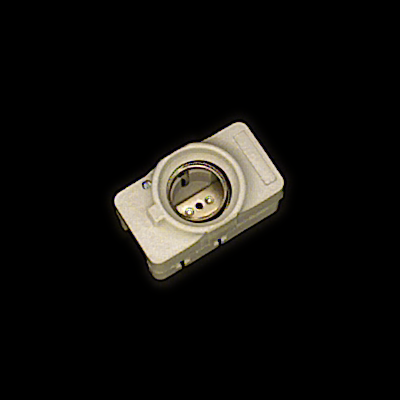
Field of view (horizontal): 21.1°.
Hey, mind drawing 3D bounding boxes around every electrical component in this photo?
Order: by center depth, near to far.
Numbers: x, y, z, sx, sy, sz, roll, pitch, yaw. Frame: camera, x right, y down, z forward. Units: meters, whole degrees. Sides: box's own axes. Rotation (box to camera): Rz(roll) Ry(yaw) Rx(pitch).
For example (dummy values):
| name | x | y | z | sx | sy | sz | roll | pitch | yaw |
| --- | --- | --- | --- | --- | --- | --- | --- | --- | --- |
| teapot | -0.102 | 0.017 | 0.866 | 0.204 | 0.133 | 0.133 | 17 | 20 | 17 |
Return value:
| name | x | y | z | sx | sy | sz | roll | pitch | yaw |
| --- | --- | --- | --- | --- | --- | --- | --- | --- | --- |
| electrical component | 0.000 | 0.000 | 0.636 | 0.090 | 0.050 | 0.055 | -32 | -14 | -9 |
